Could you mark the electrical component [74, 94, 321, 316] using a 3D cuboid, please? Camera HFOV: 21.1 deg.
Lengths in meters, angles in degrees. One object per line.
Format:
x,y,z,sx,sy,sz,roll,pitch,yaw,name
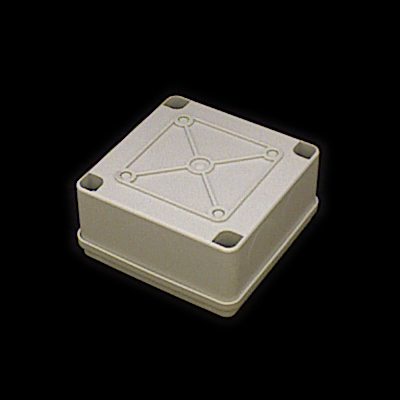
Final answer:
0.000,0.000,0.630,0.108,0.056,0.108,22,46,23,electrical component
